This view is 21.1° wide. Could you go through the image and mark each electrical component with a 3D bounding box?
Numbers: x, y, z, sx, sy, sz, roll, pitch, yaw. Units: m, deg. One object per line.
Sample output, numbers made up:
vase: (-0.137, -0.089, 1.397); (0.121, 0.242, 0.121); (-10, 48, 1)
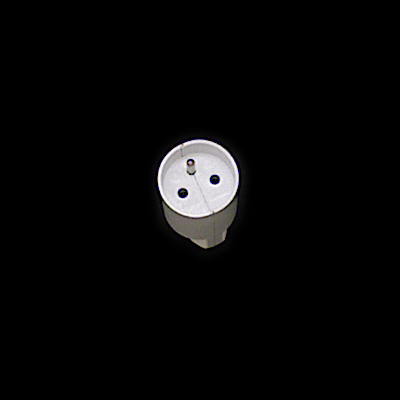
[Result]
electrical component: (0.000, 0.000, 0.615); (0.043, 0.043, 0.080); (0, -18, 0)
